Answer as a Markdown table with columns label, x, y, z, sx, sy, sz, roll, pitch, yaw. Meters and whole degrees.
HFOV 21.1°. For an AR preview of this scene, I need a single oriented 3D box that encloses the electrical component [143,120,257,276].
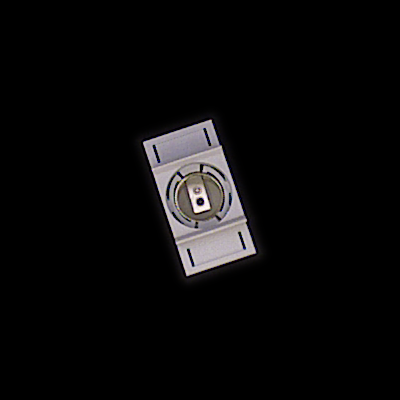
| label | x | y | z | sx | sy | sz | roll | pitch | yaw |
| --- | --- | --- | --- | --- | --- | --- | --- | --- | --- |
| electrical component | 0.000 | 0.000 | 0.625 | 0.042 | 0.081 | 0.063 | -18 | -6 | -1 |
